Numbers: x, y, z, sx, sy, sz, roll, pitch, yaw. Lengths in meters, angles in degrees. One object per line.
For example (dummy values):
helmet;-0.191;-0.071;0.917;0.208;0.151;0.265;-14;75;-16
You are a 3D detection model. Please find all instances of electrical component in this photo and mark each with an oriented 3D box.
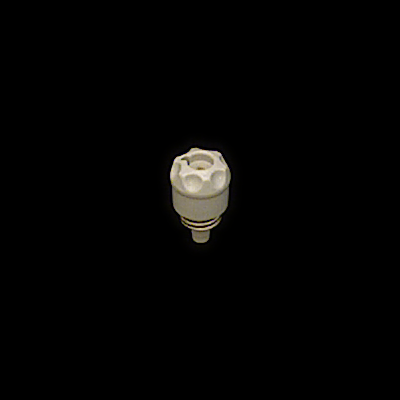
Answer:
electrical component;0.000;0.000;0.639;0.035;0.062;0.035;0;42;0
